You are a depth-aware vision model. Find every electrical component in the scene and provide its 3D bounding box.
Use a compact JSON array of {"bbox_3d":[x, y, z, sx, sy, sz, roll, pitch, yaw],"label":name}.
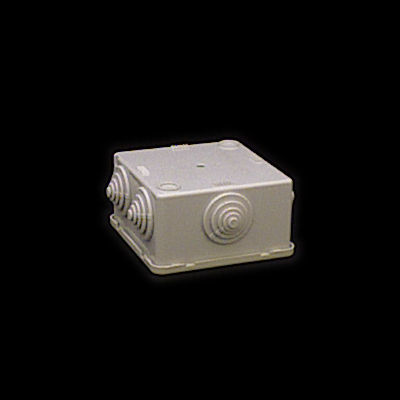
[{"bbox_3d":[0.000,0.000,0.642,0.100,0.049,0.098,-7,22,-21],"label":"electrical component"}]
